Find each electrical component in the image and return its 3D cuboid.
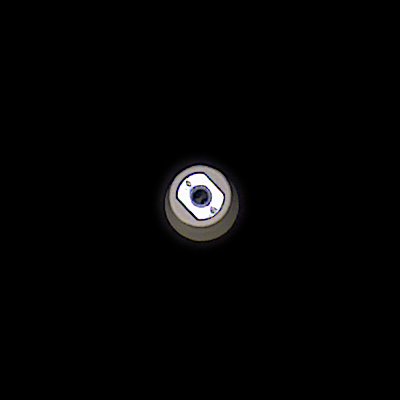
[{"bbox_3d":[0.000,0.000,0.626,0.044,0.044,0.065,0,-5,1],"label":"electrical component"}]
